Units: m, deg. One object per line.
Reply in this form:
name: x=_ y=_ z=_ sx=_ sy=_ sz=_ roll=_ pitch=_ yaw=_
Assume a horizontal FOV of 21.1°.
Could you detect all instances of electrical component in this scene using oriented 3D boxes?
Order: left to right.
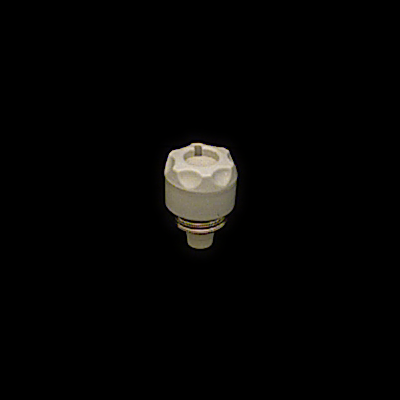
electrical component: x=0.000 y=0.000 z=0.641 sx=0.043 sy=0.063 sz=0.043 roll=1 pitch=33 yaw=0
